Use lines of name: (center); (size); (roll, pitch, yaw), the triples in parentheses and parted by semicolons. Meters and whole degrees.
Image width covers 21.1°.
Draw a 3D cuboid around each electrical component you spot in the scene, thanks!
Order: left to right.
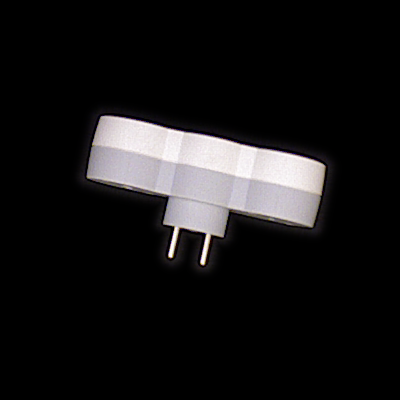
electrical component: (0.000, 0.000, 0.632); (0.138, 0.074, 0.052); (12, -5, 1)
